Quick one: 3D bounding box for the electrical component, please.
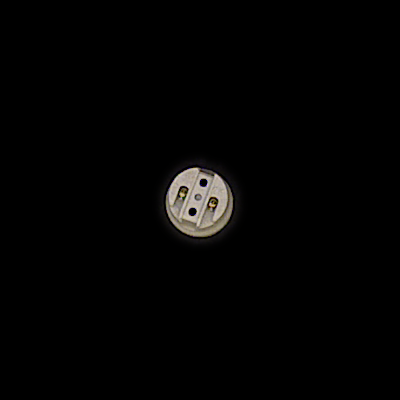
[{"bbox_3d":[0.000,0.000,0.634,0.040,0.040,0.046,0,-7,0],"label":"electrical component"}]
